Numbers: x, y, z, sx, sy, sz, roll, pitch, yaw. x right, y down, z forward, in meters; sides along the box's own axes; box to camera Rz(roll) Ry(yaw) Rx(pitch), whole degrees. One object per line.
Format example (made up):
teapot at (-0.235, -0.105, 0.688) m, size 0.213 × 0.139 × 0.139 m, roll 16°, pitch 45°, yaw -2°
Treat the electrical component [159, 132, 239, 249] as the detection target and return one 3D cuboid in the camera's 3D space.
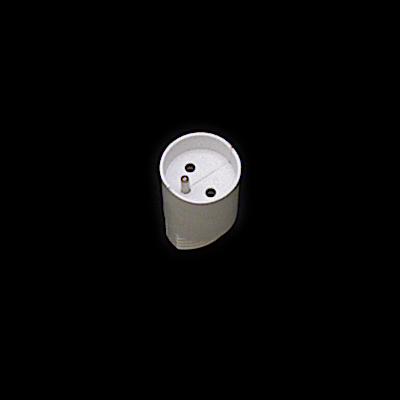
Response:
electrical component at (0.000, 0.000, 0.615) m, size 0.043 × 0.043 × 0.081 m, roll 0°, pitch -27°, yaw 1°
